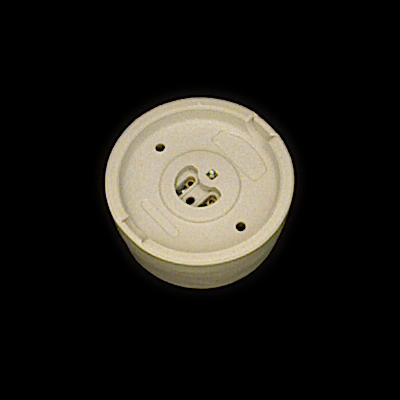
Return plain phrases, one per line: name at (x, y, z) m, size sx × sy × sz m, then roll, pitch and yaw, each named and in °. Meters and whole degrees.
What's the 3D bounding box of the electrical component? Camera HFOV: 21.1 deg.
electrical component at (0.000, 0.000, 0.636) m, size 0.108 × 0.107 × 0.060 m, roll 0°, pitch -27°, yaw 0°
